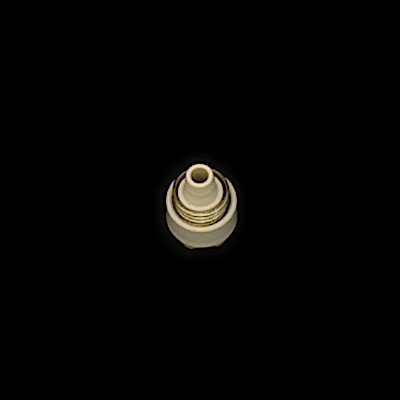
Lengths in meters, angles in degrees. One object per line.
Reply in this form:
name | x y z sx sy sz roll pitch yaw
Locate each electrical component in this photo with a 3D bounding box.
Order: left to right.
electrical component | 0.000 0.000 0.634 0.043 0.043 0.062 0 -28 1
